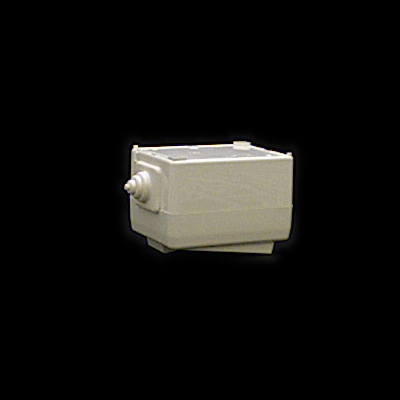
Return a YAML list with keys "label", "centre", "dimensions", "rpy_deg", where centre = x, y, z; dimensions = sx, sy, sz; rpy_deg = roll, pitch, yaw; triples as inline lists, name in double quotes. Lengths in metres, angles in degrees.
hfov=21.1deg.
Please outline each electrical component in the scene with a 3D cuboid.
- label: "electrical component"
  centre: [0.000, 0.000, 0.639]
  dimensions: [0.096, 0.061, 0.061]
  rpy_deg: [-4, 12, -27]
